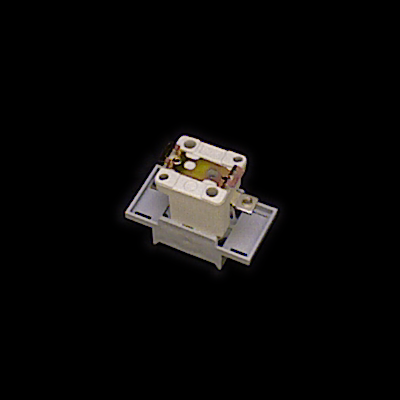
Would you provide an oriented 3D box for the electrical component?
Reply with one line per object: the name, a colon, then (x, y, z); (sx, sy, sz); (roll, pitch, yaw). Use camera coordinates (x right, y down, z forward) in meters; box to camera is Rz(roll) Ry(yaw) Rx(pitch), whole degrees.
electrical component: (0.000, 0.000, 0.627); (0.080, 0.042, 0.064); (20, -35, 14)
